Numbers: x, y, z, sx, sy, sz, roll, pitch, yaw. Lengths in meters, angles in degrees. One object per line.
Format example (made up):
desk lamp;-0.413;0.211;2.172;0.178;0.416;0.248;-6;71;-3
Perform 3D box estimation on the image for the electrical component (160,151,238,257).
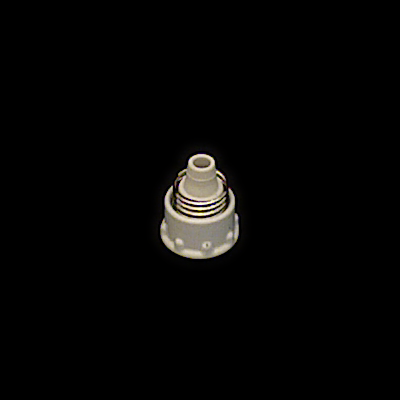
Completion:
electrical component;0.000;0.000;0.638;0.048;0.062;0.047;1;43;-1
